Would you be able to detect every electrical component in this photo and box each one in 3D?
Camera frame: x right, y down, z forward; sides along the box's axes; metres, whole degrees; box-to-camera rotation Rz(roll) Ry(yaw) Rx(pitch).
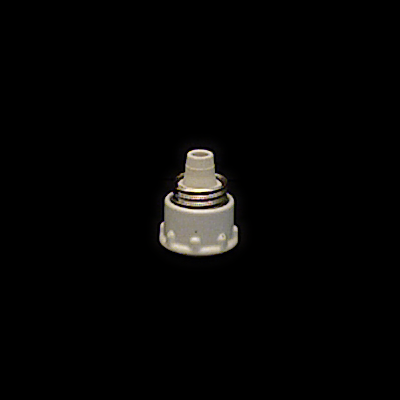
[{"bbox_3d":[0.000,0.000,0.644,0.048,0.063,0.047,1,23,0],"label":"electrical component"}]
